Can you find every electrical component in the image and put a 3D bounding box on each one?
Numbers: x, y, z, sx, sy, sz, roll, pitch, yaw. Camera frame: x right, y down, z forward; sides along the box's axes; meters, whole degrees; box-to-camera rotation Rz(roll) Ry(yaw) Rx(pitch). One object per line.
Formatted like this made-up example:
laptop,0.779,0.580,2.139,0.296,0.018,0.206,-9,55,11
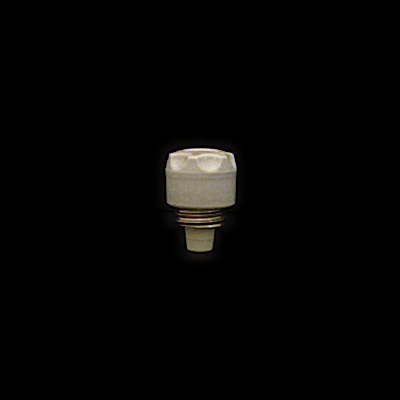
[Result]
electrical component,0.000,0.000,0.652,0.043,0.062,0.043,1,11,0
